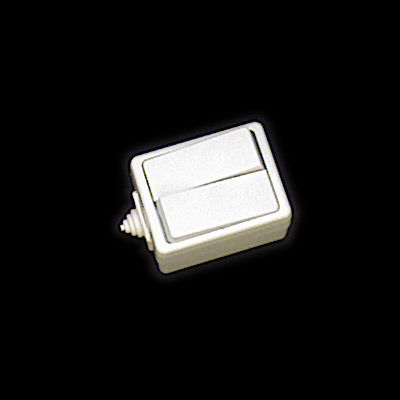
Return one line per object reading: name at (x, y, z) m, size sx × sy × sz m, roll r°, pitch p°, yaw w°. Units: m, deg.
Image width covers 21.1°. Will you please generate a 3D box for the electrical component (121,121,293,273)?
electrical component at (0.000, 0.000, 0.626) m, size 0.096 × 0.062 × 0.060 m, roll -16°, pitch -16°, yaw -5°
